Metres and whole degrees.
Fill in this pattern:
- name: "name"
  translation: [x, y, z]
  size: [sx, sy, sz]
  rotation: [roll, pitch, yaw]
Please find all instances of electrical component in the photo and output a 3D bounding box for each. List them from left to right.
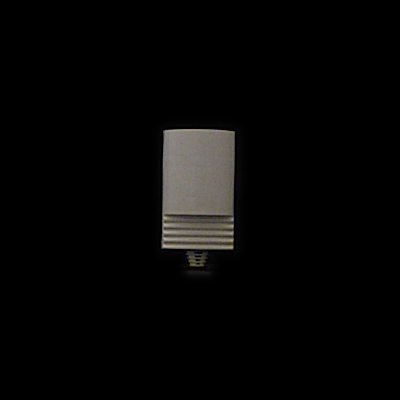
- name: "electrical component"
  translation: [0.000, 0.000, 0.647]
  size: [0.043, 0.081, 0.043]
  rotation: [1, 0, 0]
